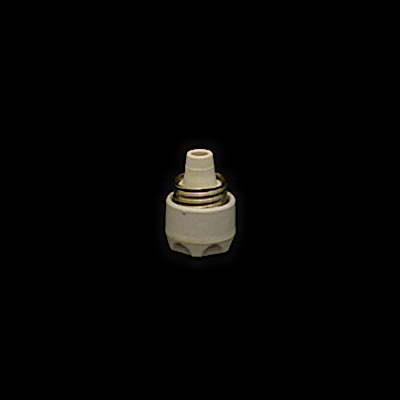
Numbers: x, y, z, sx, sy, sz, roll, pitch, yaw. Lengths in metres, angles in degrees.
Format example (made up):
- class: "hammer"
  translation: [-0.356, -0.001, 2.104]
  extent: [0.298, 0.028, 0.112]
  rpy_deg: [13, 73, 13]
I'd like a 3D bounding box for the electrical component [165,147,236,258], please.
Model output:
- class: "electrical component"
  translation: [0.000, 0.000, 0.646]
  extent: [0.043, 0.063, 0.043]
  rpy_deg: [0, 22, 1]
